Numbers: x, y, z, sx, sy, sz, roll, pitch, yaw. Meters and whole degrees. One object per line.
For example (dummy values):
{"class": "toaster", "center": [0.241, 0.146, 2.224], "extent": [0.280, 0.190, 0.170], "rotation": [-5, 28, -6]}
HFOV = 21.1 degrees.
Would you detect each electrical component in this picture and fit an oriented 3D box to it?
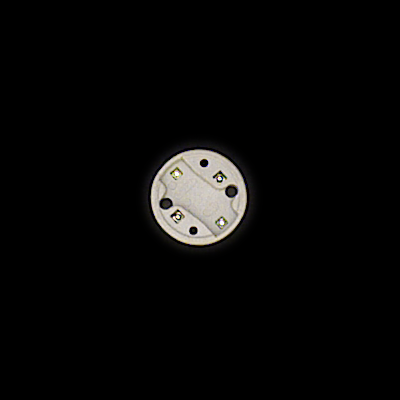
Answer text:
{"class": "electrical component", "center": [0.000, 0.000, 0.636], "extent": [0.055, 0.055, 0.047], "rotation": [0, -6, 0]}
